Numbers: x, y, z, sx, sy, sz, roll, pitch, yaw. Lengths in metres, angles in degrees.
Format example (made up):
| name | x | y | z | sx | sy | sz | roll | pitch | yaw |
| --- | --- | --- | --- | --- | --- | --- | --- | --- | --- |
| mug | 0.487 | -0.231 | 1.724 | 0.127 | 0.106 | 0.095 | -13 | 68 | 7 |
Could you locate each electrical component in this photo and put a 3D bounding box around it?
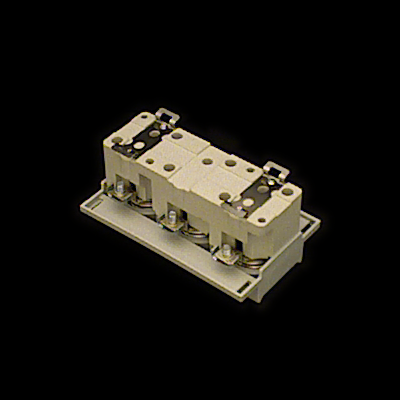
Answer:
| name | x | y | z | sx | sy | sz | roll | pitch | yaw |
| --- | --- | --- | --- | --- | --- | --- | --- | --- | --- |
| electrical component | 0.000 | 0.000 | 0.635 | 0.120 | 0.063 | 0.079 | 28 | 50 | 26 |
